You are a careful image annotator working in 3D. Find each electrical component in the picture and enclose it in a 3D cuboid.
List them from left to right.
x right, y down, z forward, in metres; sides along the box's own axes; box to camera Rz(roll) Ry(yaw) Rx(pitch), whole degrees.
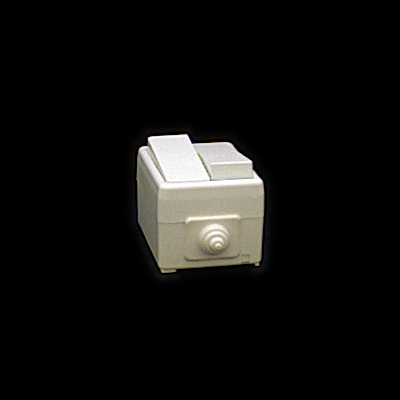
[{"bbox_3d":[0.000,0.000,0.636,0.062,0.061,0.095,-4,21,-12],"label":"electrical component"}]
